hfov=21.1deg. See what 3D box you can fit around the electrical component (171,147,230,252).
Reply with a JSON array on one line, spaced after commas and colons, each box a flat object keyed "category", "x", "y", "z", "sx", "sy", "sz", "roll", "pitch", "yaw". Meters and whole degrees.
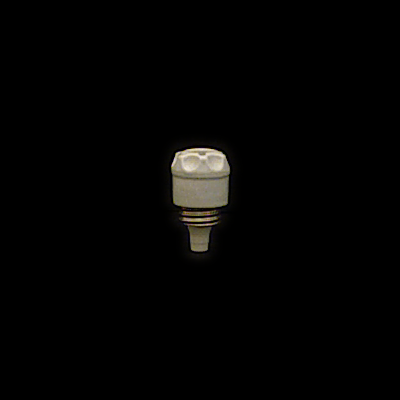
[{"category": "electrical component", "x": 0.000, "y": 0.000, "z": 0.649, "sx": 0.035, "sy": 0.062, "sz": 0.035, "roll": 1, "pitch": 12, "yaw": 0}]
